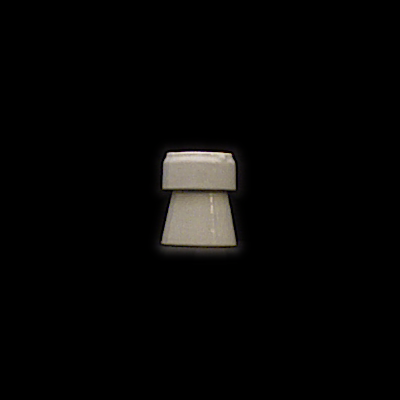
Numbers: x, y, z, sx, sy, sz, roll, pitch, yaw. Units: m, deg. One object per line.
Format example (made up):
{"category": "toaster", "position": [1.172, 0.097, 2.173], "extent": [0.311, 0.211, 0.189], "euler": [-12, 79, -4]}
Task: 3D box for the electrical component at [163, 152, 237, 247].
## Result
{"category": "electrical component", "position": [0.000, 0.000, 0.649], "extent": [0.045, 0.055, 0.045], "euler": [1, 1, 0]}
